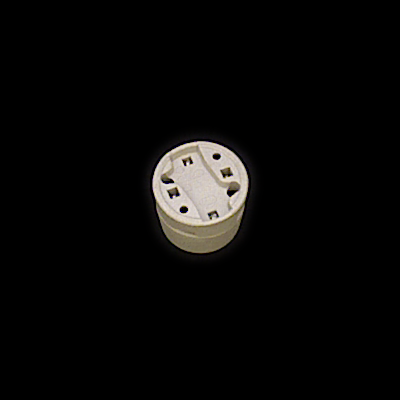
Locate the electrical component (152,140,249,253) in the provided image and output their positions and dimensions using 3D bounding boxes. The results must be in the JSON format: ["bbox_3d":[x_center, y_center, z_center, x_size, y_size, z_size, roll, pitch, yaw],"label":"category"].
[{"bbox_3d":[0.000,0.000,0.634,0.055,0.056,0.047,0,-27,-1],"label":"electrical component"}]
